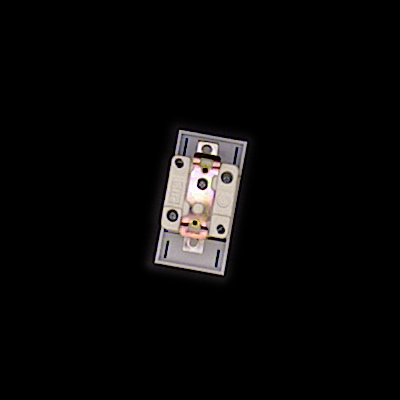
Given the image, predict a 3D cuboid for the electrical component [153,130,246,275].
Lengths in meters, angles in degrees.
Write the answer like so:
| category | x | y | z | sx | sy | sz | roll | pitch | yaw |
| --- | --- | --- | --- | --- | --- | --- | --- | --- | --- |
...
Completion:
| category | x | y | z | sx | sy | sz | roll | pitch | yaw |
| --- | --- | --- | --- | --- | --- | --- | --- | --- | --- |
| electrical component | 0.000 | 0.000 | 0.626 | 0.042 | 0.081 | 0.063 | 10 | -7 | 1 |
